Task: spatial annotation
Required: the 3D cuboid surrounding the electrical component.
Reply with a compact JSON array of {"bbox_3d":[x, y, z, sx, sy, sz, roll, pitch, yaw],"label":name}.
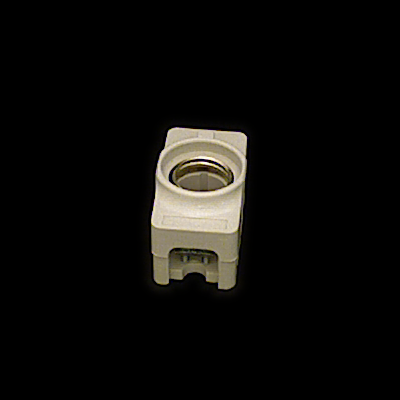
[{"bbox_3d":[0.000,0.000,0.639,0.050,0.056,0.089,4,43,3],"label":"electrical component"}]
